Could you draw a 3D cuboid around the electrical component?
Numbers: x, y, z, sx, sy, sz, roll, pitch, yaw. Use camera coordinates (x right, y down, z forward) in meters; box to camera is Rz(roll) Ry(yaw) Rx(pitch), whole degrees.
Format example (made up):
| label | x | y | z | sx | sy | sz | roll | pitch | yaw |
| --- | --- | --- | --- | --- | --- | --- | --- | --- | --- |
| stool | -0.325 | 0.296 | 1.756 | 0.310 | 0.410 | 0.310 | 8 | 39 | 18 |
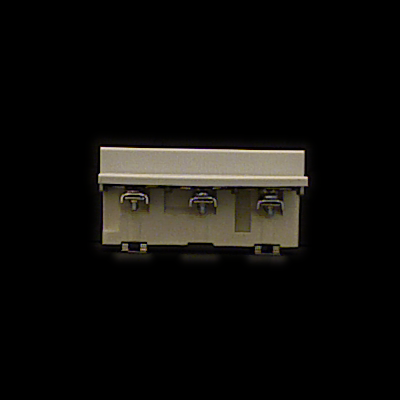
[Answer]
| label | x | y | z | sx | sy | sz | roll | pitch | yaw |
| --- | --- | --- | --- | --- | --- | --- | --- | --- | --- |
| electrical component | 0.000 | 0.000 | 0.661 | 0.121 | 0.063 | 0.078 | 1 | 2 | -2 |
